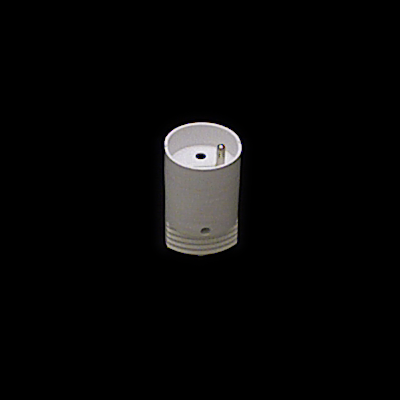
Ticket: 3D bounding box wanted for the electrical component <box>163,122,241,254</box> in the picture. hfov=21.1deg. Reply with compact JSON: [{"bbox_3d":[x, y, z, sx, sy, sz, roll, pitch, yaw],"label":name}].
[{"bbox_3d":[0.000,0.000,0.625,0.043,0.082,0.042,1,42,-1],"label":"electrical component"}]
